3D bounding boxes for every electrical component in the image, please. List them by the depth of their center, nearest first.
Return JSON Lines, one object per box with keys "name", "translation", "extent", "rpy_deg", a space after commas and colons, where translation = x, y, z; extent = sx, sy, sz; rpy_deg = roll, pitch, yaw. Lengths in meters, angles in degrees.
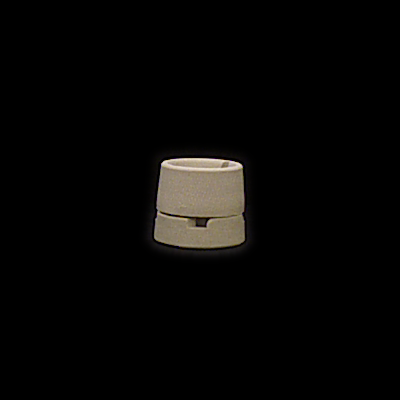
{"name": "electrical component", "translation": [0.000, 0.000, 0.647], "extent": [0.055, 0.047, 0.055], "rpy_deg": [2, 10, 0]}
